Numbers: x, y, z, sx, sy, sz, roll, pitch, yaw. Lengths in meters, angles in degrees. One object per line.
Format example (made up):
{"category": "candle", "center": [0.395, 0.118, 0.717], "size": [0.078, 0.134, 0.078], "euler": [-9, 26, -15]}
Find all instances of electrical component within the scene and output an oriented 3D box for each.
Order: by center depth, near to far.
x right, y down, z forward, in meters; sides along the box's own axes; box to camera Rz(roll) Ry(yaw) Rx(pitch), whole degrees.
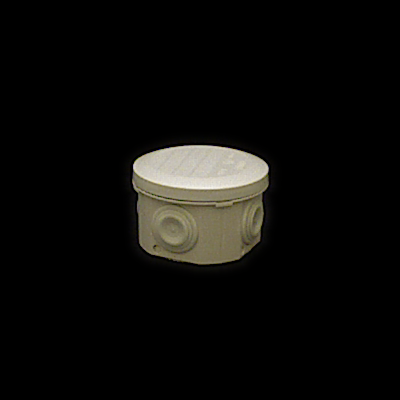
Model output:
{"category": "electrical component", "center": [0.000, 0.000, 0.638], "size": [0.080, 0.051, 0.079], "euler": [1, 21, 0]}
